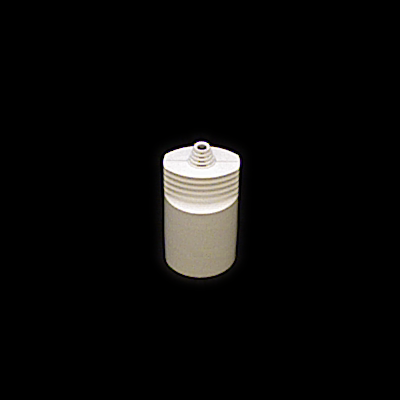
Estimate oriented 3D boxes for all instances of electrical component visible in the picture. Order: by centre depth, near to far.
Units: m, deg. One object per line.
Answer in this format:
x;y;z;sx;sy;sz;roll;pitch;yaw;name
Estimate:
0.000;0.000;0.623;0.043;0.082;0.042;1;42;0;electrical component
